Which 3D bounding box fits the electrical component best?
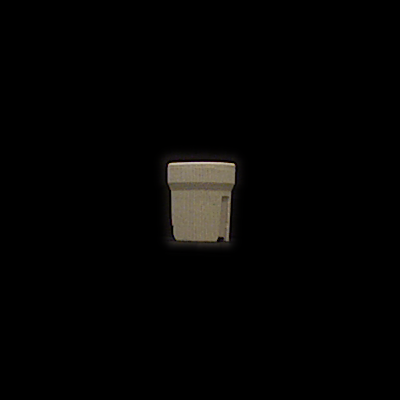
[{"bbox_3d":[0.000,0.000,0.650,0.040,0.046,0.040,1,1,1],"label":"electrical component"}]
